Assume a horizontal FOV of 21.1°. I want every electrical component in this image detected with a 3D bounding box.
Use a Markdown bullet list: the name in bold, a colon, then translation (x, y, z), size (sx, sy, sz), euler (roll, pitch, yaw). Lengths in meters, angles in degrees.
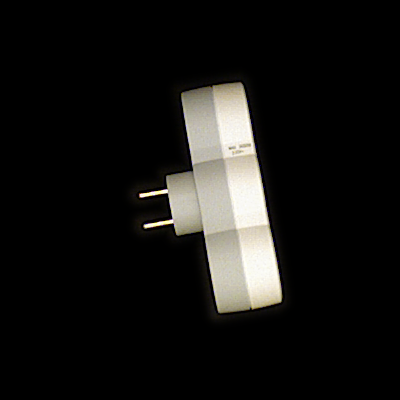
- **electrical component**: translation (0.000, 0.000, 0.638), size (0.074, 0.138, 0.052), euler (-9, -16, -1)
